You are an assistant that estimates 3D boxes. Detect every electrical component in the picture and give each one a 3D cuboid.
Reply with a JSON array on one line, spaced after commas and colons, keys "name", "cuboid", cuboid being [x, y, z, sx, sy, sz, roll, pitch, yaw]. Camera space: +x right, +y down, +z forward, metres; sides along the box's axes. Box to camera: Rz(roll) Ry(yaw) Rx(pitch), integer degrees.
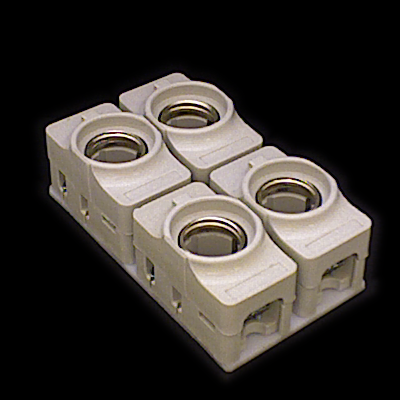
[{"name": "electrical component", "cuboid": [0.000, 0.000, 0.629, 0.105, 0.061, 0.184, -27, 49, -27]}]
